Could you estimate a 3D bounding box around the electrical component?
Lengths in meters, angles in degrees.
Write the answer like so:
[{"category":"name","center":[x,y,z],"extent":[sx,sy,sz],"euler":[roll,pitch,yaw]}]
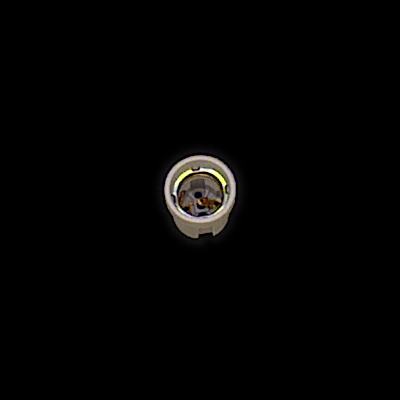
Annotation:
[{"category":"electrical component","center":[0.000,0.000,0.628],"extent":[0.040,0.040,0.046],"euler":[0,-17,0]}]
